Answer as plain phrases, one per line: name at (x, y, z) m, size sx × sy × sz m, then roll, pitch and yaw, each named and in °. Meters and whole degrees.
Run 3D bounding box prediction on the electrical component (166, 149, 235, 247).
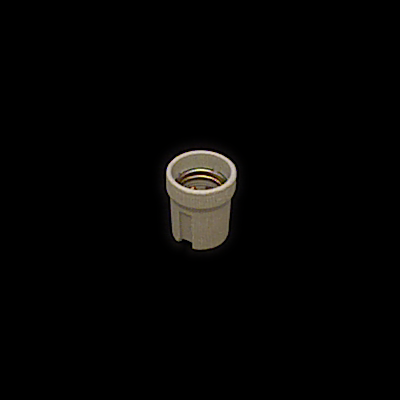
electrical component at (0.000, 0.000, 0.634) m, size 0.040 × 0.047 × 0.039 m, roll 1°, pitch 42°, yaw 0°
